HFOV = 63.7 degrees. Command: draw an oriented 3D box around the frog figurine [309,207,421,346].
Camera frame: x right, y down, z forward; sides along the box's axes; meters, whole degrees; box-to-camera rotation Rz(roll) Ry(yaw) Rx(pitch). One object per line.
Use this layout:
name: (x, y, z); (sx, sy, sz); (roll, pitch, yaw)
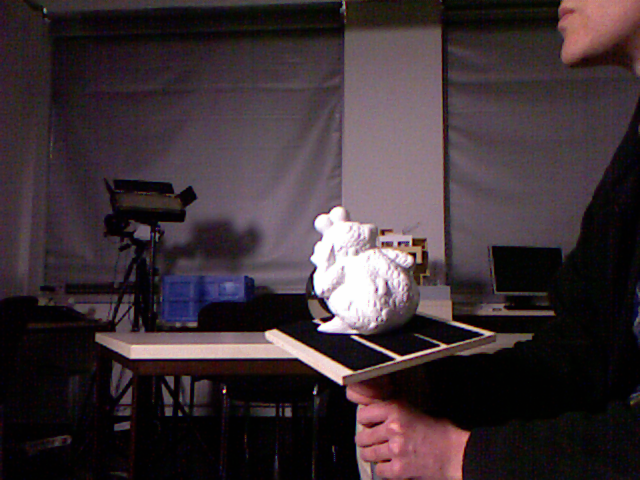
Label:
frog figurine: (0.054, 0.039, 0.626); (0.138, 0.158, 0.124); (-9, 13, -15)
